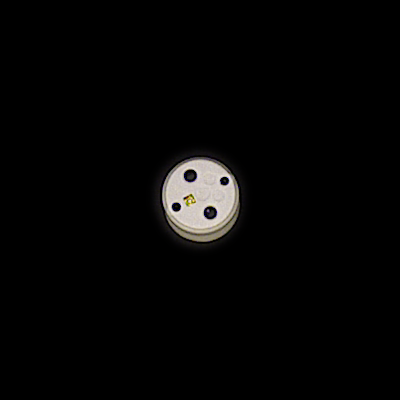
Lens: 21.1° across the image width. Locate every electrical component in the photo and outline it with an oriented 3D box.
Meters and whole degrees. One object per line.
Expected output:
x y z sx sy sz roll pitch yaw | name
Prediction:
0.000 0.000 0.630 0.045 0.045 0.055 0 -7 0 | electrical component
